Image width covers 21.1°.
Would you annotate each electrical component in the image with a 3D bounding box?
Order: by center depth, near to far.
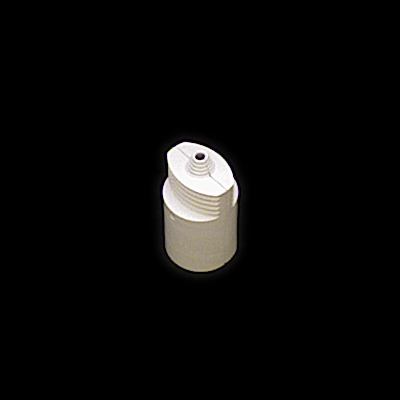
[{"bbox_3d":[0.000,0.000,0.620,0.043,0.043,0.081,0,-38,0],"label":"electrical component"}]
